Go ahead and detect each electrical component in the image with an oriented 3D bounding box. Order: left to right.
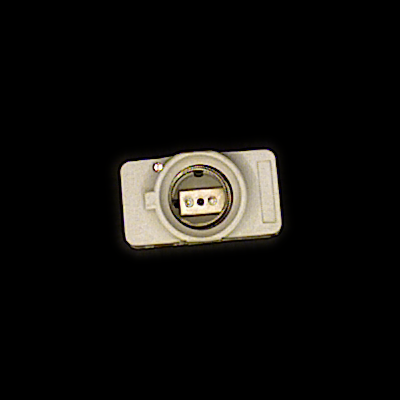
[{"bbox_3d":[0.000,0.000,0.637,0.089,0.050,0.055,-5,-6,0],"label":"electrical component"}]
